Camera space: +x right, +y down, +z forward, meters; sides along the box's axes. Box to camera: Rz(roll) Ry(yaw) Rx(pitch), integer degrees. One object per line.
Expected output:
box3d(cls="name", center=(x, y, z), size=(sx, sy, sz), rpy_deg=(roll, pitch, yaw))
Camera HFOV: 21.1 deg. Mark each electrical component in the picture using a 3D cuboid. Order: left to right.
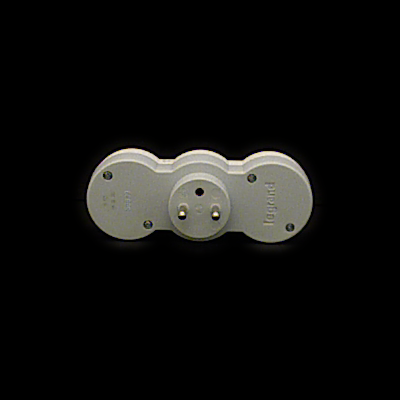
box3d(cls="electrical component", center=(0.000, 0.000, 0.648), size=(0.138, 0.052, 0.073), rpy_deg=(1, 13, 0))
